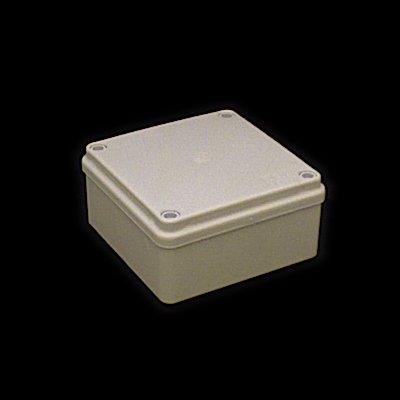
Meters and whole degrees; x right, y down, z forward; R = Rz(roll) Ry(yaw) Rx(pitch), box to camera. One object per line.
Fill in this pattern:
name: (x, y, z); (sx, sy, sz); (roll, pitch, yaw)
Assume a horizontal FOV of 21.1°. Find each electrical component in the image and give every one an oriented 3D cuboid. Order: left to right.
electrical component: (0.000, 0.000, 0.636); (0.109, 0.057, 0.107); (-16, 35, -26)
